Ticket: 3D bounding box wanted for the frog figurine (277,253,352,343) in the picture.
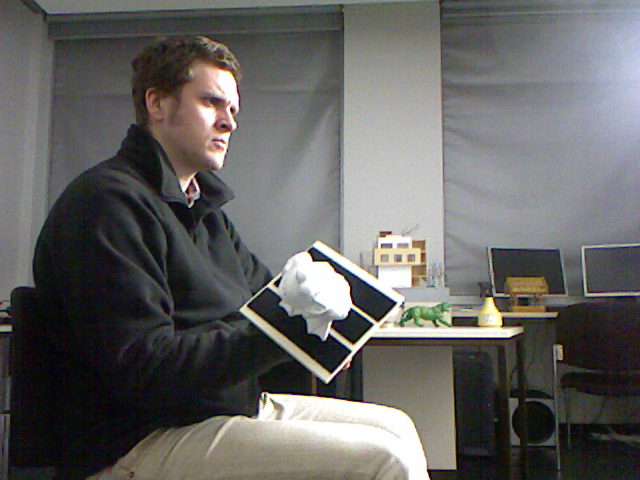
[{"bbox_3d":[-0.012,0.073,0.812,0.124,0.140,0.156,-24,-35,-16],"label":"frog figurine"}]
